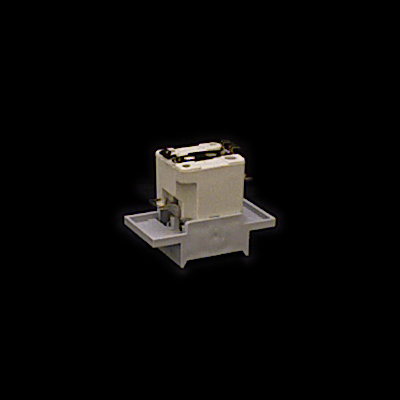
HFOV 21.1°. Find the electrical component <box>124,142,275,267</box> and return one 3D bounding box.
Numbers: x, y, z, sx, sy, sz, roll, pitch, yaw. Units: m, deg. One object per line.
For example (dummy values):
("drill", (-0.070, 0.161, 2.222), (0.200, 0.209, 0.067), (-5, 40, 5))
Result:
("electrical component", (0.000, 0.000, 0.637), (0.081, 0.064, 0.041), (-9, 24, -26))
